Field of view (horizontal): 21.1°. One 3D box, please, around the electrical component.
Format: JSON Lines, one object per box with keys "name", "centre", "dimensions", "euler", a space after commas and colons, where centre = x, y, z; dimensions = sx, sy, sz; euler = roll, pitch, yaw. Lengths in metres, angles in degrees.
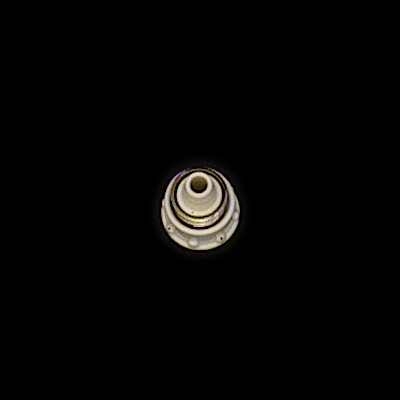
{"name": "electrical component", "centre": [0.000, 0.000, 0.634], "dimensions": [0.048, 0.048, 0.061], "euler": [0, -17, 0]}
